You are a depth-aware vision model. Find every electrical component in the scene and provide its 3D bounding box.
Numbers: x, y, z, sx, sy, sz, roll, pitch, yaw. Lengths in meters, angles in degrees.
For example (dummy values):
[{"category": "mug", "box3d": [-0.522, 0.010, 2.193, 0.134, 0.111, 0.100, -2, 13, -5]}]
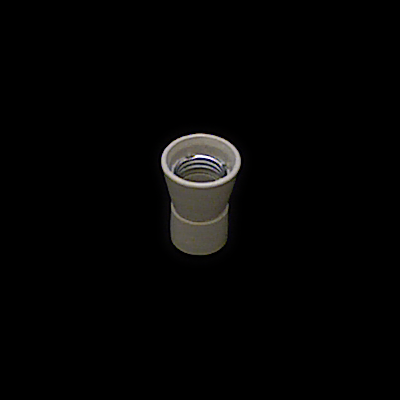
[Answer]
[{"category": "electrical component", "box3d": [0.000, 0.000, 0.628, 0.044, 0.066, 0.044, 1, 43, -1]}]
